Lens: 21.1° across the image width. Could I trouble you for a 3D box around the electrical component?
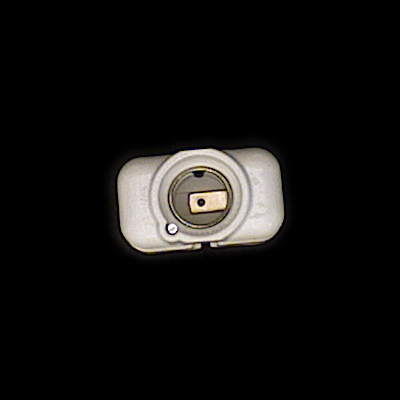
[{"bbox_3d":[0.000,0.000,0.635,0.095,0.054,0.059,-6,-6,0],"label":"electrical component"}]
